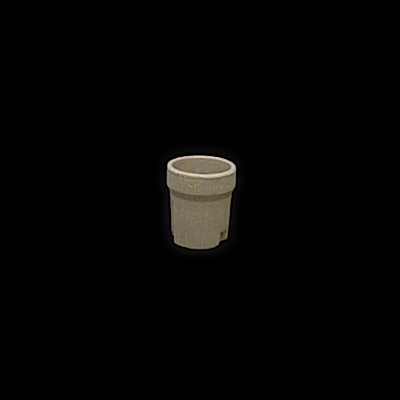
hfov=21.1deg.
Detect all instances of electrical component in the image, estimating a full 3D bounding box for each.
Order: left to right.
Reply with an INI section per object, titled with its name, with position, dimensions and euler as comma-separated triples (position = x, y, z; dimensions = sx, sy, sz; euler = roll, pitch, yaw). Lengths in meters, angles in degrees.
[electrical component]
position = 0.000, 0.000, 0.640
dimensions = 0.040, 0.047, 0.039
euler = 1, 21, 0
